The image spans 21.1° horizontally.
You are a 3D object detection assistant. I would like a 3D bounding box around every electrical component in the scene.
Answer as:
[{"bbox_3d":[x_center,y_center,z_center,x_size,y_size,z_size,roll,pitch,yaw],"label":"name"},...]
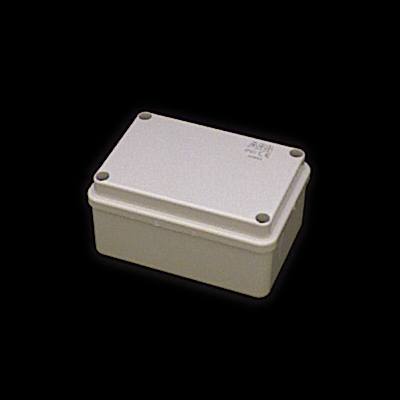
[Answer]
[{"bbox_3d":[0.000,0.000,0.633,0.113,0.057,0.077,15,44,15],"label":"electrical component"}]
